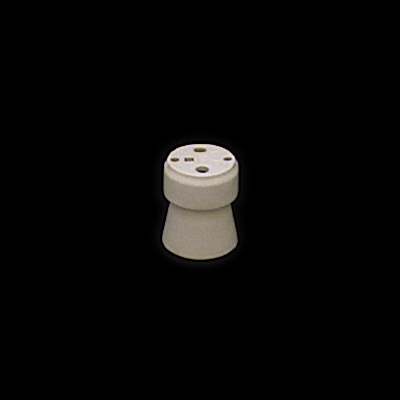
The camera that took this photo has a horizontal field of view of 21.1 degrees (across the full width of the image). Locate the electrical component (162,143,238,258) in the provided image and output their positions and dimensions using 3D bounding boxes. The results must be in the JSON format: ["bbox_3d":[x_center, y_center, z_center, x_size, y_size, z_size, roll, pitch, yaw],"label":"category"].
[{"bbox_3d":[0.000,0.000,0.637,0.045,0.056,0.044,1,32,0],"label":"electrical component"}]
